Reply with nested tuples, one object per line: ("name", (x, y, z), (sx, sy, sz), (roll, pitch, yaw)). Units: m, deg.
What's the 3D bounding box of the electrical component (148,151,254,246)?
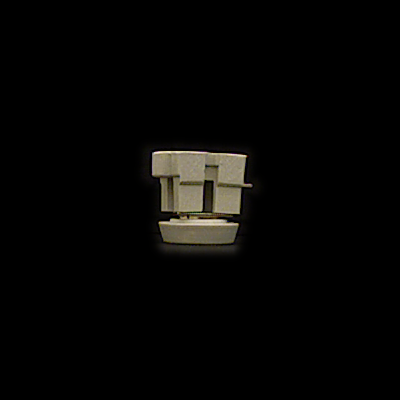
("electrical component", (0.000, 0.000, 0.655), (0.067, 0.055, 0.048), (2, 0, -22))
